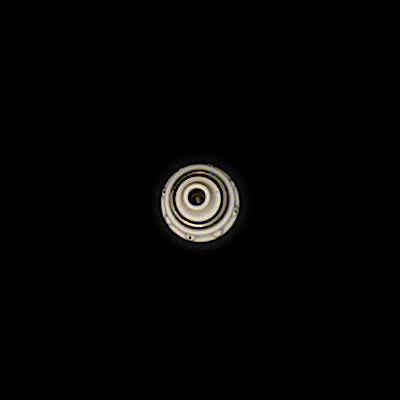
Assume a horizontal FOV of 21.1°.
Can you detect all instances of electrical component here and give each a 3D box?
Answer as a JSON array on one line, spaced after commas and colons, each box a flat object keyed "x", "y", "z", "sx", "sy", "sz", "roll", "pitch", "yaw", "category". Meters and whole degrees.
[{"x": 0.000, "y": 0.000, "z": 0.634, "sx": 0.048, "sy": 0.048, "sz": 0.062, "roll": 0, "pitch": -5, "yaw": 2, "category": "electrical component"}]
